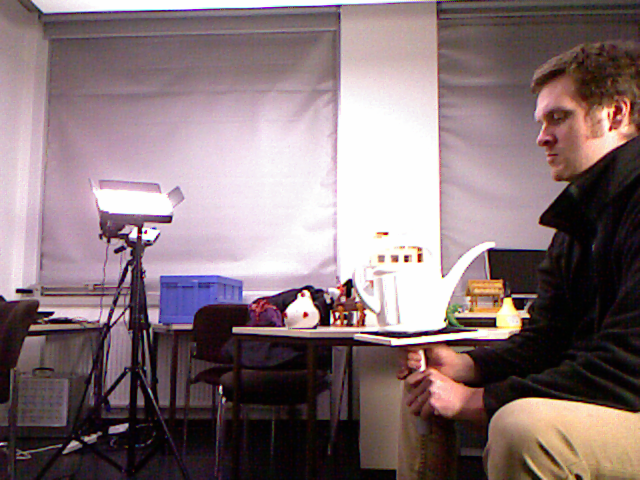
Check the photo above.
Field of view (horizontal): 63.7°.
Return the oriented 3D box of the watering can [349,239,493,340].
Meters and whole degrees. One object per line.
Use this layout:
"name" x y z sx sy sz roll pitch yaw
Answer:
"watering can" 0.228 0.107 1.102 0.348 0.224 0.104 -3 0 -18
